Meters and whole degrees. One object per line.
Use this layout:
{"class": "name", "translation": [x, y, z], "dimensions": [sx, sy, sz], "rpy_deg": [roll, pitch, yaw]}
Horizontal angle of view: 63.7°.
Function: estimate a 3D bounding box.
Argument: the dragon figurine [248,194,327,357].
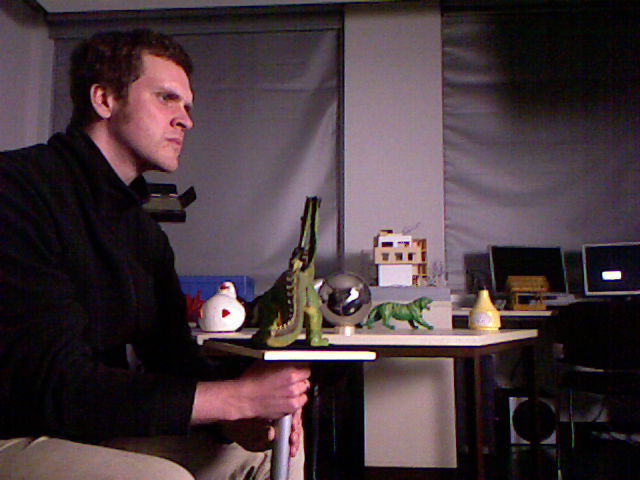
{"class": "dragon figurine", "translation": [-0.033, 0.043, 0.828], "dimensions": [0.122, 0.244, 0.408], "rpy_deg": [8, -5, -2]}
